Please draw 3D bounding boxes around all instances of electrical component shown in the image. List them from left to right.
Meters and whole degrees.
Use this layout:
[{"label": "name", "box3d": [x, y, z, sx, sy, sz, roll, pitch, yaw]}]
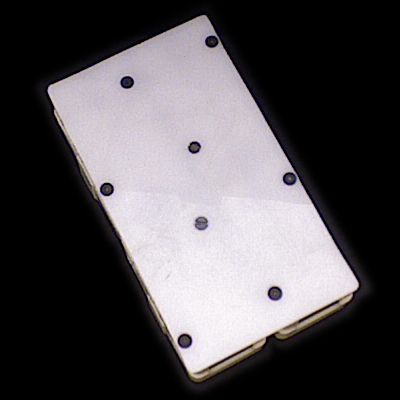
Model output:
[{"label": "electrical component", "box3d": [0.000, 0.000, 0.625, 0.106, 0.186, 0.060, -26, -15, -8]}]
